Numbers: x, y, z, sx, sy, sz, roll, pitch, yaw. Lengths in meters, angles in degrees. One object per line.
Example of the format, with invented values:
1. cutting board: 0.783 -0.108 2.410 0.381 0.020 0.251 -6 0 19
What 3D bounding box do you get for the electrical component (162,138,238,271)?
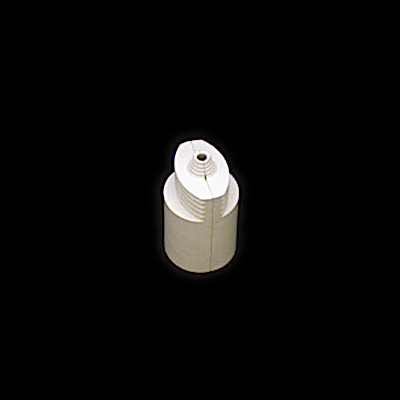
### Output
1. electrical component: 0.000 0.000 0.619 0.043 0.043 0.081 0 -38 0
